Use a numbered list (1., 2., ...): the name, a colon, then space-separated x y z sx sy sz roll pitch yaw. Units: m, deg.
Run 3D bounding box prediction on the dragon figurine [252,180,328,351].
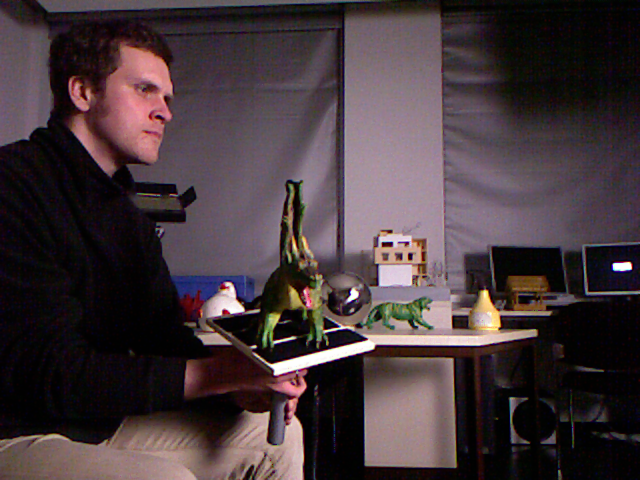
1. dragon figurine: -0.040 0.023 0.828 0.122 0.240 0.416 4 17 -8
